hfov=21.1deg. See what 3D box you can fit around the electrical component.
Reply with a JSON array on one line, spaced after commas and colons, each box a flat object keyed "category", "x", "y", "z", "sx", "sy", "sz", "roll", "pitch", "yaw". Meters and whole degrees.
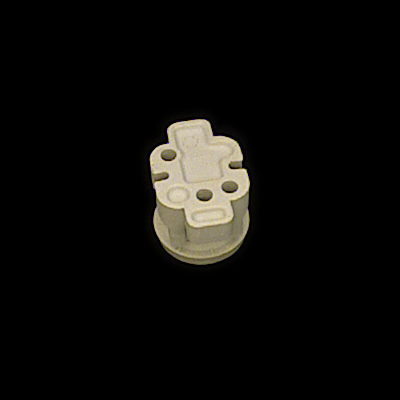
[{"category": "electrical component", "x": 0.000, "y": 0.000, "z": 0.637, "sx": 0.058, "sy": 0.078, "sz": 0.057, "roll": -10, "pitch": -38, "yaw": -7}]
